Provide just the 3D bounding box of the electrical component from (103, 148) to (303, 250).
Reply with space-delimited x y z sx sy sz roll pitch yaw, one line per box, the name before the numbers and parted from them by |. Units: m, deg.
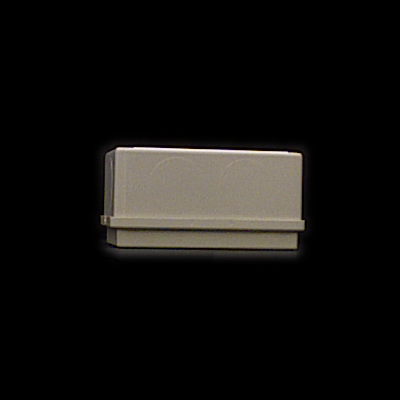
electrical component | 0.000 0.000 0.649 0.113 0.057 0.078 1 0 -10
